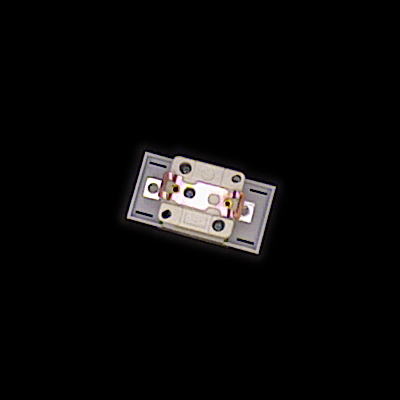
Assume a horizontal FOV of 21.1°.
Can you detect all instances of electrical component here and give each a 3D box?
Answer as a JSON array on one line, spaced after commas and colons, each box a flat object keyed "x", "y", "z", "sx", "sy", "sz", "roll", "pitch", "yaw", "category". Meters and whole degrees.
[{"x": 0.000, "y": 0.000, "z": 0.626, "sx": 0.081, "sy": 0.042, "sz": 0.063, "roll": 15, "pitch": -6, "yaw": 2, "category": "electrical component"}]
